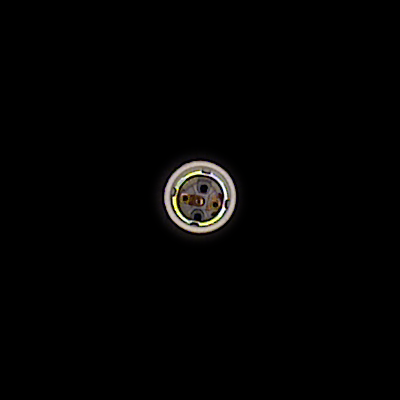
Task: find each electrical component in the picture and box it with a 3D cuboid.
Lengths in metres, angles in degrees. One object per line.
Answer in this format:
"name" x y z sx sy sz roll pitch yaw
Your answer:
"electrical component" 0.000 0.000 0.627 0.040 0.040 0.046 0 -6 0
